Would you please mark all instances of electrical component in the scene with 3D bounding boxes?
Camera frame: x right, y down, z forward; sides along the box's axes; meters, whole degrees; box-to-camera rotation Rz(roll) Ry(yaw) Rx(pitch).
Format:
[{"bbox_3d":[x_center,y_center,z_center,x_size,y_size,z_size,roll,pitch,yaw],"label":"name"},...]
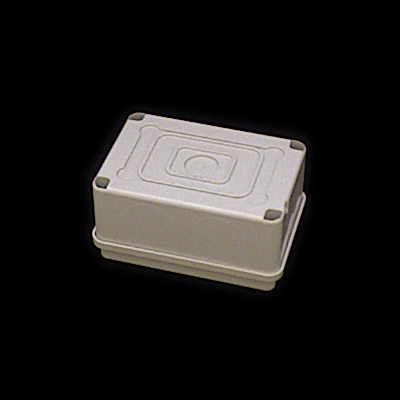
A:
[{"bbox_3d":[0.000,0.000,0.632,0.113,0.057,0.077,11,43,11],"label":"electrical component"}]
